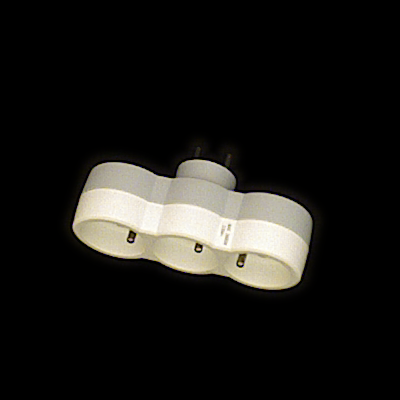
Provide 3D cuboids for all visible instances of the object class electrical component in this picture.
[{"bbox_3d":[0.000,0.000,0.639,0.138,0.074,0.052,12,-28,5],"label":"electrical component"}]
